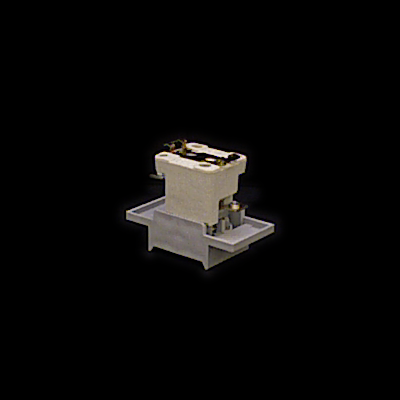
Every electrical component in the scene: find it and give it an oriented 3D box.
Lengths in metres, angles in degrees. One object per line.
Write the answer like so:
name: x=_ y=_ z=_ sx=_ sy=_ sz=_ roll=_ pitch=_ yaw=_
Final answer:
electrical component: x=0.000 y=0.000 z=0.639 sx=0.080 sy=0.064 sz=0.042 roll=16 pitch=25 yaw=34
